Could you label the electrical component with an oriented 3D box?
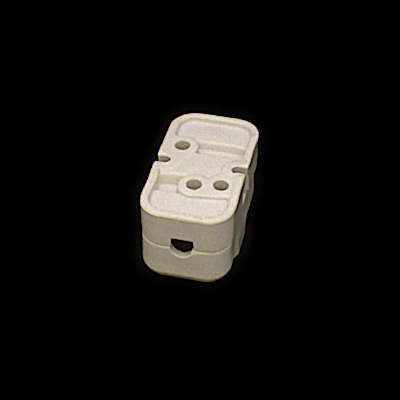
[{"bbox_3d":[0.000,0.000,0.639,0.053,0.060,0.094,9,43,9],"label":"electrical component"}]
